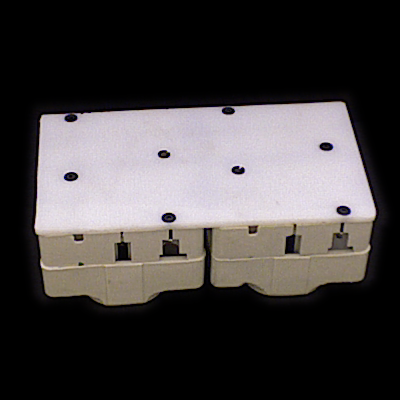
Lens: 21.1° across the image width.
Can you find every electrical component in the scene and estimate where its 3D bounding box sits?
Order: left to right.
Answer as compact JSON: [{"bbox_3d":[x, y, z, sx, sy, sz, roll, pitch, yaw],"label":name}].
[{"bbox_3d":[0.000,0.000,0.630,0.186,0.061,0.104,-2,42,-4],"label":"electrical component"}]
